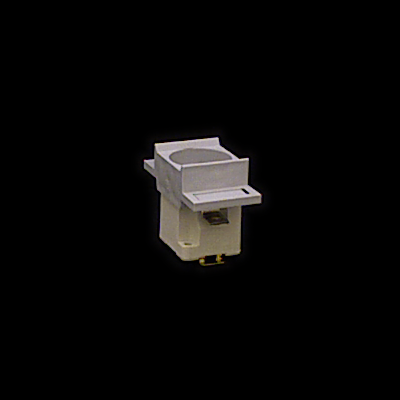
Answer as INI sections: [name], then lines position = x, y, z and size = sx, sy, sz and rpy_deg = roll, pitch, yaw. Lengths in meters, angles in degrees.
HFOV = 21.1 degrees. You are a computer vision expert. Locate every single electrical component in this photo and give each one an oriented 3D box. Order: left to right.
[electrical component]
position = 0.000, 0.000, 0.640
size = 0.042, 0.064, 0.079
rpy_deg = -9, 23, -21
